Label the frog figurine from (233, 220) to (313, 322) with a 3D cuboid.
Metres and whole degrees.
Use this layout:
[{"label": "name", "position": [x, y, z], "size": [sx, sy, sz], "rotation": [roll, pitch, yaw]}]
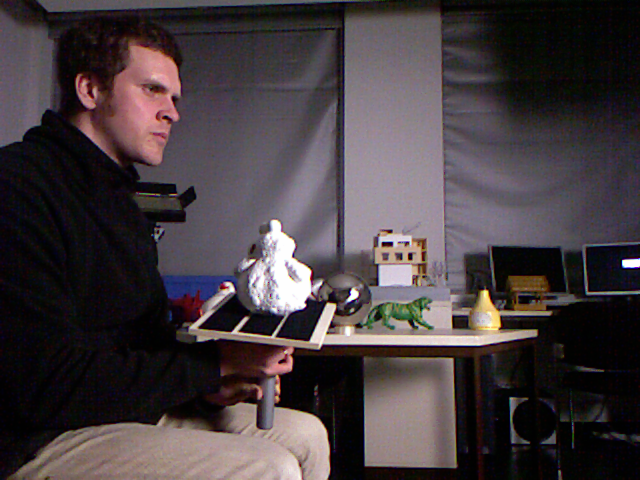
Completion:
[{"label": "frog figurine", "position": [-0.078, 0.051, 0.866], "size": [0.138, 0.158, 0.124], "rotation": [9, 15, 27]}]
